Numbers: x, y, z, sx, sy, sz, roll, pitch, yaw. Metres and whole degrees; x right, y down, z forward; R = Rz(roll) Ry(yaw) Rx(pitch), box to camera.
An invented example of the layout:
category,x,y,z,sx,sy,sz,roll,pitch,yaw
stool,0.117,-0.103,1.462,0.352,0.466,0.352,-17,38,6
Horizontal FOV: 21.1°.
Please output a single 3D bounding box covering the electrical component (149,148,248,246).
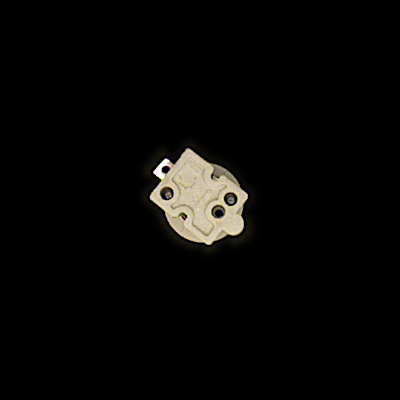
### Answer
category,x,y,z,sx,sy,sz,roll,pitch,yaw
electrical component,0.000,0.000,0.639,0.066,0.048,0.055,39,-3,5
